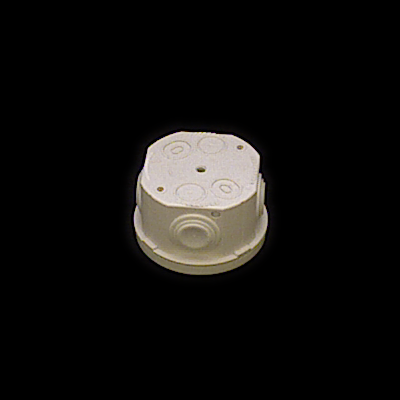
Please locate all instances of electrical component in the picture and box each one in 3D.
[{"bbox_3d":[0.000,0.000,0.633,0.080,0.051,0.080,0,43,0],"label":"electrical component"}]
